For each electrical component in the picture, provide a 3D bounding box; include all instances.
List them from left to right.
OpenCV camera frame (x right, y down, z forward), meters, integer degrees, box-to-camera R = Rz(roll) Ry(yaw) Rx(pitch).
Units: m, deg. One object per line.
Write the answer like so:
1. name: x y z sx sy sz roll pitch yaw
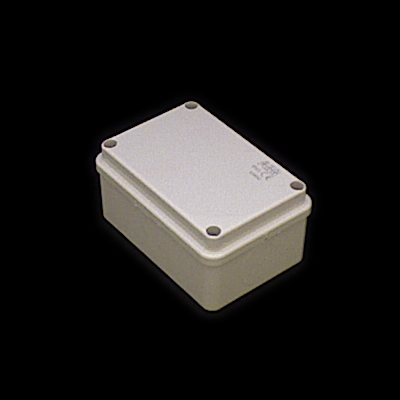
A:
1. electrical component: 0.000 0.000 0.632 0.078 0.057 0.112 -28 49 -28
